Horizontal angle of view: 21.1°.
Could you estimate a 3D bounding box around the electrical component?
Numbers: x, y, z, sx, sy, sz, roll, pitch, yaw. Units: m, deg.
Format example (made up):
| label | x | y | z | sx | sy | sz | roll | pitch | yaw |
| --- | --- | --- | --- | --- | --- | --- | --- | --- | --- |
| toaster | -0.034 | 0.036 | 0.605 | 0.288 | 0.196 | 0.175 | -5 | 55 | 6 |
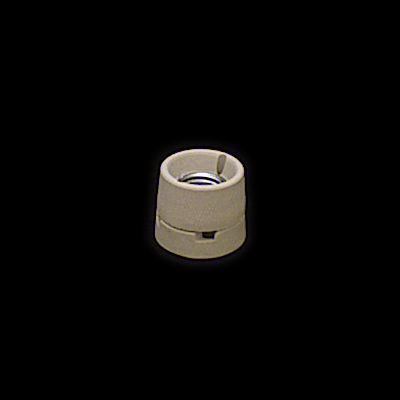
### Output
| label | x | y | z | sx | sy | sz | roll | pitch | yaw |
| --- | --- | --- | --- | --- | --- | --- | --- | --- | --- |
| electrical component | 0.000 | 0.000 | 0.639 | 0.055 | 0.047 | 0.055 | 2 | 31 | -1 |
